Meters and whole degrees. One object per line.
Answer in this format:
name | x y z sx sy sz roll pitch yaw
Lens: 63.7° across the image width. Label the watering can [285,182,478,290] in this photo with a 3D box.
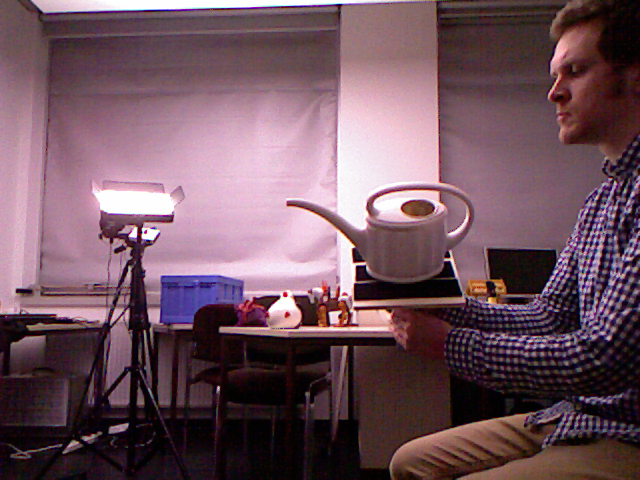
watering can | 0.116 -0.009 0.964 0.349 0.220 0.107 -3 36 0
